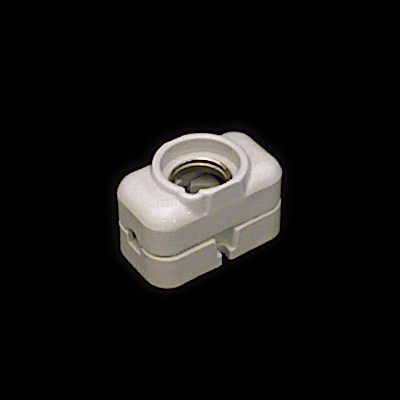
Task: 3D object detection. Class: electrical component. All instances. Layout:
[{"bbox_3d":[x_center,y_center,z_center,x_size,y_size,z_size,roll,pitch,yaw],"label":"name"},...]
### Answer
[{"bbox_3d":[0.000,0.000,0.637,0.095,0.060,0.053,-25,48,-25],"label":"electrical component"}]
